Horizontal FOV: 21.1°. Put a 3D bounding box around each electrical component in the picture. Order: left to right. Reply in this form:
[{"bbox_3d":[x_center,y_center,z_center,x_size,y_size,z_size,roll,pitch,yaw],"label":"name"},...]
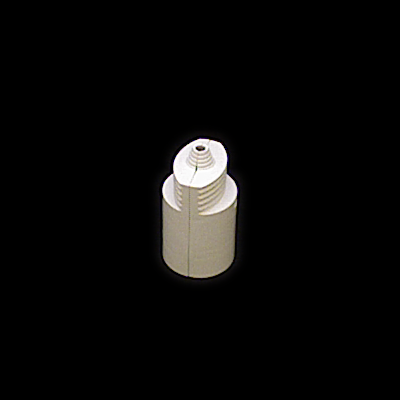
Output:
[{"bbox_3d":[0.000,0.000,0.623,0.043,0.082,0.042,0,42,0],"label":"electrical component"}]
